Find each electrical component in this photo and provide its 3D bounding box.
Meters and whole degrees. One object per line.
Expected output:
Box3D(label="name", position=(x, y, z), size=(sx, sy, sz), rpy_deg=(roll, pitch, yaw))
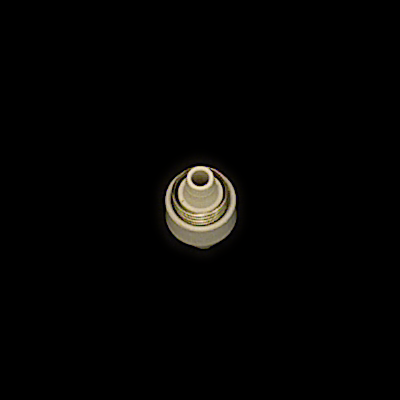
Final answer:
Box3D(label="electrical component", position=(0.000, 0.000, 0.633), size=(0.043, 0.043, 0.062), rpy_deg=(0, -25, 1))
